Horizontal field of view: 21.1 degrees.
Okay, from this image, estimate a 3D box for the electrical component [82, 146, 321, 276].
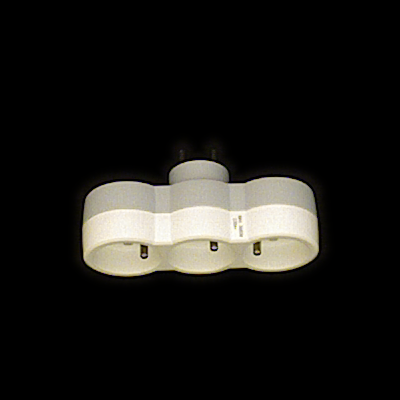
[{"bbox_3d":[0.000,0.000,0.639,0.138,0.073,0.052,-2,-28,-1],"label":"electrical component"}]
